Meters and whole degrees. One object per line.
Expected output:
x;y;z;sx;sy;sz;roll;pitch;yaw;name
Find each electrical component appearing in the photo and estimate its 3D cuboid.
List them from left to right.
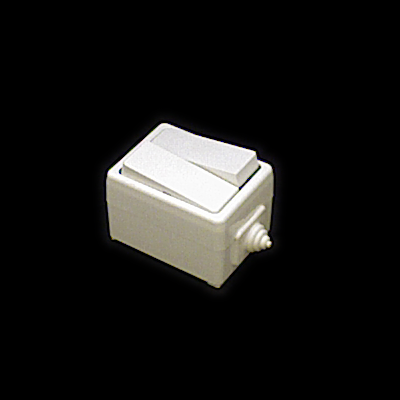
0.000;0.000;0.630;0.096;0.061;0.061;23;46;23;electrical component
